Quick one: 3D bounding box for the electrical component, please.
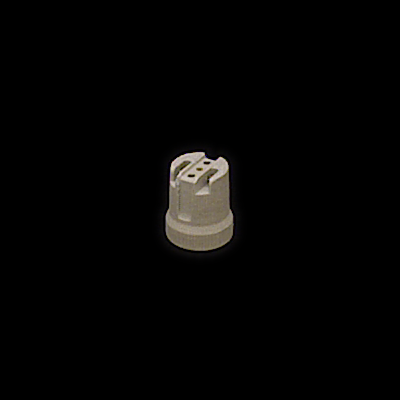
[{"bbox_3d":[0.000,0.000,0.638,0.040,0.046,0.040,1,31,0],"label":"electrical component"}]
